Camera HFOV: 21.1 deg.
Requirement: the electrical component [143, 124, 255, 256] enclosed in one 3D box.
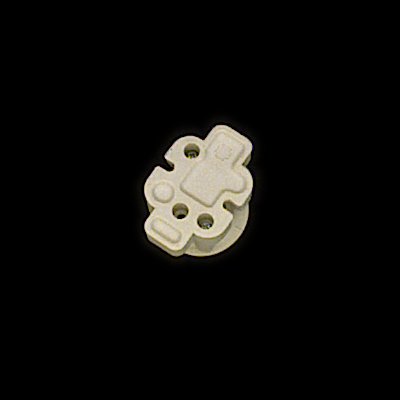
[{"bbox_3d":[0.000,0.000,0.636,0.058,0.079,0.056,32,-15,10],"label":"electrical component"}]
